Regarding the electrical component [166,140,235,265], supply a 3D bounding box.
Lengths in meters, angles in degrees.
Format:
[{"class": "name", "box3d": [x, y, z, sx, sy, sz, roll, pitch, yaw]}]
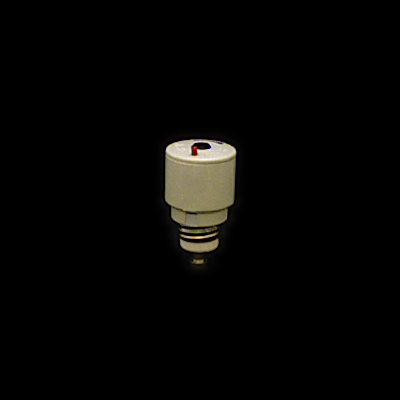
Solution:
[{"class": "electrical component", "box3d": [0.000, 0.000, 0.633, 0.040, 0.079, 0.039, 1, 22, 0]}]
